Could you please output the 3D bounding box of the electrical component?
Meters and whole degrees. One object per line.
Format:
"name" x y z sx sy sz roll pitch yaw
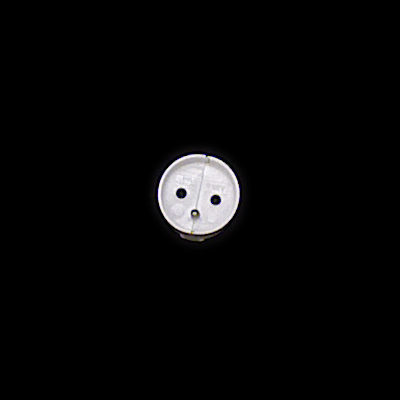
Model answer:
"electrical component" 0.000 0.000 0.615 0.043 0.043 0.080 0 -5 1
